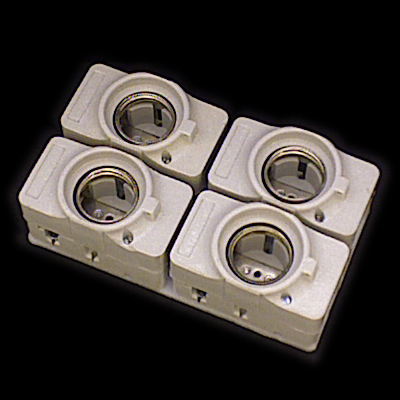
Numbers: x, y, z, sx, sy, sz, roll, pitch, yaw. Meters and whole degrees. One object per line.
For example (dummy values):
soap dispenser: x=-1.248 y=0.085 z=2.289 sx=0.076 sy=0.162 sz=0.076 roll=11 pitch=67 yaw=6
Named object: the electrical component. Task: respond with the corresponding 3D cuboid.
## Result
electrical component: x=0.000 y=0.000 z=0.626 sx=0.186 sy=0.106 sz=0.060 roll=21 pitch=-26 yaw=10
